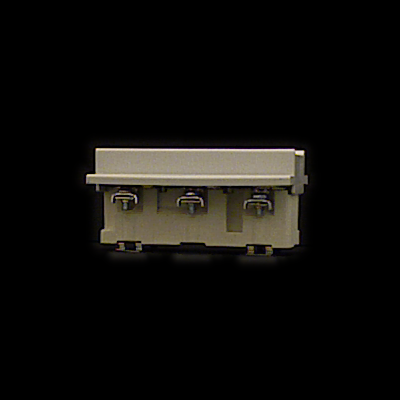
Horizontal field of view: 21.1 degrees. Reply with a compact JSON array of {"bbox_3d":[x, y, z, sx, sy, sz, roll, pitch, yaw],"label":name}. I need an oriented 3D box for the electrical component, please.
[{"bbox_3d":[0.000,0.000,0.661,0.121,0.063,0.078,1,2,13],"label":"electrical component"}]
